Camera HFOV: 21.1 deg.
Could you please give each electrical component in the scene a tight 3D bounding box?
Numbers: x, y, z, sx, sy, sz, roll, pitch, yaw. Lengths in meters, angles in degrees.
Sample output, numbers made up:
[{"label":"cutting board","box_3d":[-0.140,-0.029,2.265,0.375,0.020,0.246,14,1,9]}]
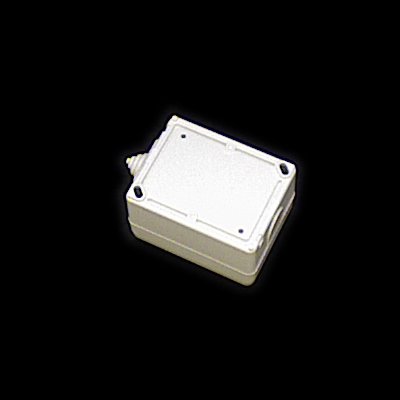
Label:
[{"label":"electrical component","box_3d":[0.000,0.000,0.627,0.096,0.062,0.061,23,-25,11]}]
